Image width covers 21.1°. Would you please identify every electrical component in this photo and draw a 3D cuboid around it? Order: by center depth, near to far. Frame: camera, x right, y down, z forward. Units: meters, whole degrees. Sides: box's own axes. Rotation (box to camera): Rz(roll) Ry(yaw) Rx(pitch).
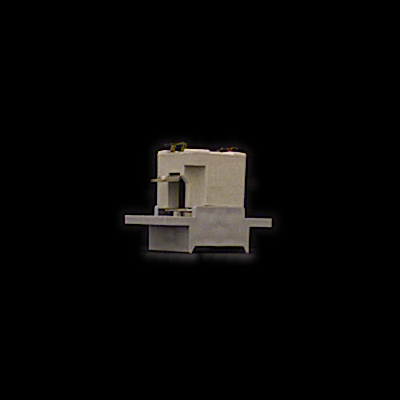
[{"bbox_3d":[0.000,0.000,0.650,0.081,0.064,0.042,1,1,-39],"label":"electrical component"}]
